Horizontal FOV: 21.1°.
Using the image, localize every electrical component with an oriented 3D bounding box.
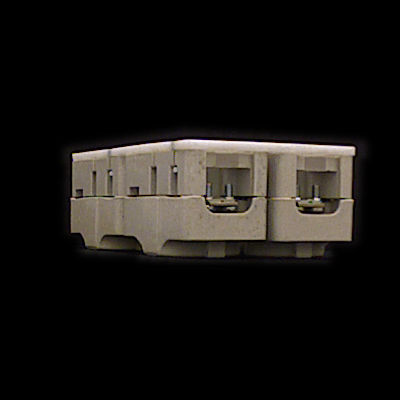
[{"bbox_3d":[0.000,0.000,0.649,0.106,0.060,0.186,2,-1,-25],"label":"electrical component"}]
